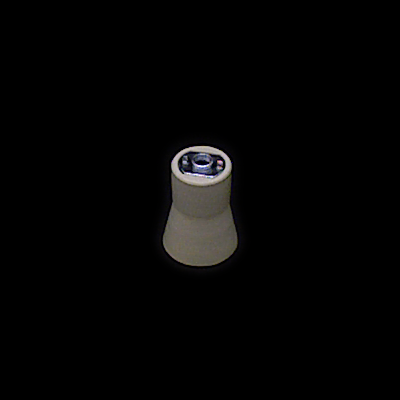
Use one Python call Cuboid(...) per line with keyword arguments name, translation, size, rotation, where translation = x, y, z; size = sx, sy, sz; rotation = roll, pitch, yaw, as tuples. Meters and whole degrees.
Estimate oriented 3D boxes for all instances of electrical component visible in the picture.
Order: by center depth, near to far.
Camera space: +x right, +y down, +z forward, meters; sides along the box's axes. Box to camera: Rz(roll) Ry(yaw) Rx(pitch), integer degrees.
Cuboid(name="electrical component", translation=(0.000, 0.000, 0.628), size=(0.044, 0.066, 0.044), rotation=(1, 43, 0))
